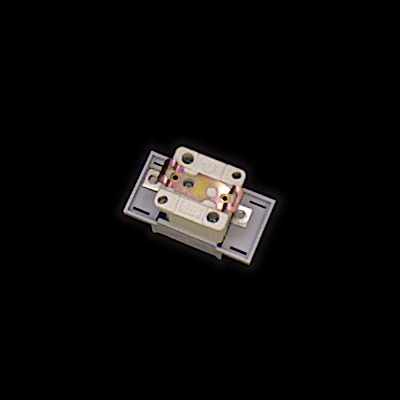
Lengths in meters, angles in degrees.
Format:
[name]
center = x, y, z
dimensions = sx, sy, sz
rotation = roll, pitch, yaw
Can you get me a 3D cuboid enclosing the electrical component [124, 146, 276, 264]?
[electrical component]
center = 0.000, 0.000, 0.625
dimensions = 0.081, 0.042, 0.063
rotation = 21, -16, 6
